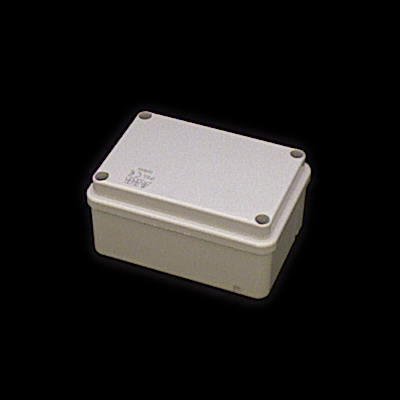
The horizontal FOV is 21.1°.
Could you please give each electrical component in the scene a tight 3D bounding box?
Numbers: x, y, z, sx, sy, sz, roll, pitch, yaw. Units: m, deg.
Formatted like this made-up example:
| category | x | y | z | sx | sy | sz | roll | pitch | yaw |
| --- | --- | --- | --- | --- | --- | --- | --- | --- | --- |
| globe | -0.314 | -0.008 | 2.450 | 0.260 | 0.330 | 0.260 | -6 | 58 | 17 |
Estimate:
| category | x | y | z | sx | sy | sz | roll | pitch | yaw |
| --- | --- | --- | --- | --- | --- | --- | --- | --- | --- |
| electrical component | 0.000 | 0.000 | 0.629 | 0.113 | 0.057 | 0.078 | 15 | 44 | 15 |
